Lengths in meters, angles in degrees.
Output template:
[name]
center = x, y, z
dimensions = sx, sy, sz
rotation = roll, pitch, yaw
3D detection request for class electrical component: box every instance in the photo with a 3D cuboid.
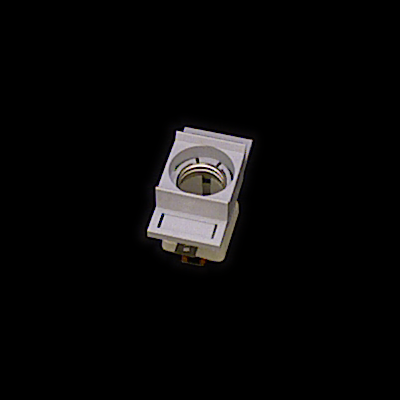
[electrical component]
center = 0.000, 0.000, 0.624
dimensions = 0.042, 0.080, 0.064
rotation = 13, -37, 8
